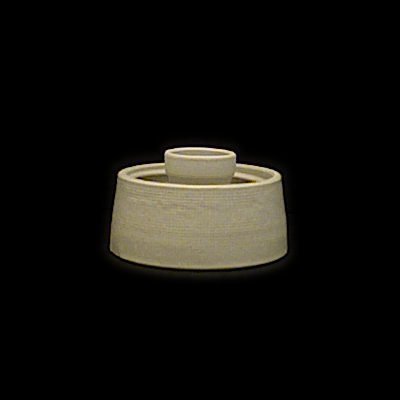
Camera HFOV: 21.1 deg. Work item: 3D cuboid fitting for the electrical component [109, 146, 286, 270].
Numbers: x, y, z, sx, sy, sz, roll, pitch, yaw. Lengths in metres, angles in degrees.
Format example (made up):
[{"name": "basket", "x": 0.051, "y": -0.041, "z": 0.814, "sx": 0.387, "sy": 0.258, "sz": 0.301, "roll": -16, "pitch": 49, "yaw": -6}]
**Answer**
[{"name": "electrical component", "x": 0.000, "y": 0.000, "z": 0.649, "sx": 0.108, "sy": 0.061, "sz": 0.107, "roll": 2, "pitch": 11, "yaw": 0}]
